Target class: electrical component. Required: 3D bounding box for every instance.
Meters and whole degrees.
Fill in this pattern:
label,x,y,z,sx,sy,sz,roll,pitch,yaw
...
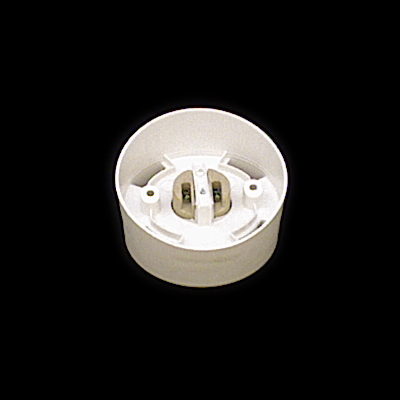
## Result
label,x,y,z,sx,sy,sz,roll,pitch,yaw
electrical component,0.000,0.000,0.629,0.099,0.065,0.098,0,41,0
